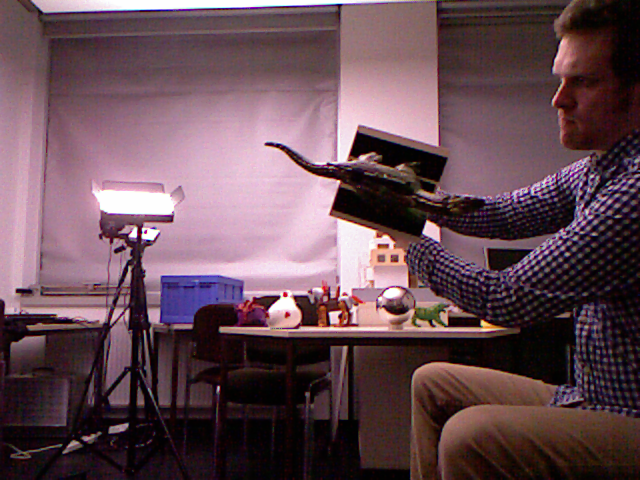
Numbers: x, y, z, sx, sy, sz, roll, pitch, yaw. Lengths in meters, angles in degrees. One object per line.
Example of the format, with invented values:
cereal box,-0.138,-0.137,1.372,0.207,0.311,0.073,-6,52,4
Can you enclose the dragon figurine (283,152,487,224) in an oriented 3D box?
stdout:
dragon figurine,0.102,-0.113,0.975,0.413,0.122,0.244,15,4,7
